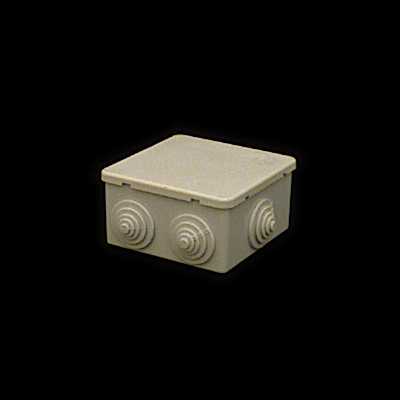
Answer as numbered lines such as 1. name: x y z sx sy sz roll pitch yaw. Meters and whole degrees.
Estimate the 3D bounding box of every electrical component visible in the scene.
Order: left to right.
1. electrical component: 0.000 0.000 0.649 0.098 0.049 0.100 13 25 28
